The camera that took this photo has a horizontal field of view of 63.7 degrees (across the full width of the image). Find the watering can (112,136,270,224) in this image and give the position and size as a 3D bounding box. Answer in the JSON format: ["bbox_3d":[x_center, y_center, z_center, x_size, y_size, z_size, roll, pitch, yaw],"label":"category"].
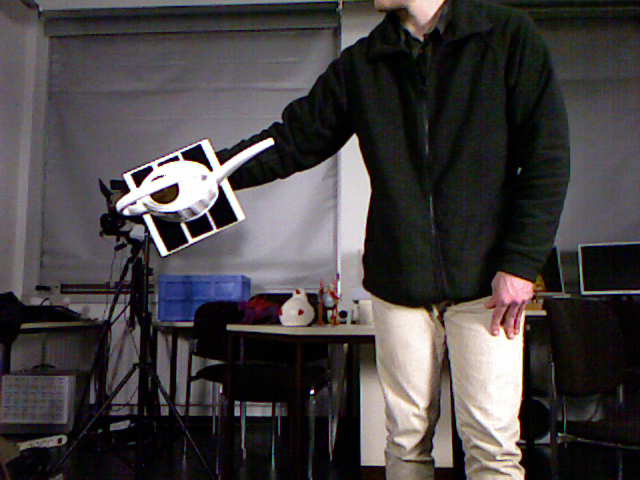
[{"bbox_3d":[-0.260,-0.118,1.093,0.349,0.104,0.224,-23,-3,-5],"label":"watering can"}]
